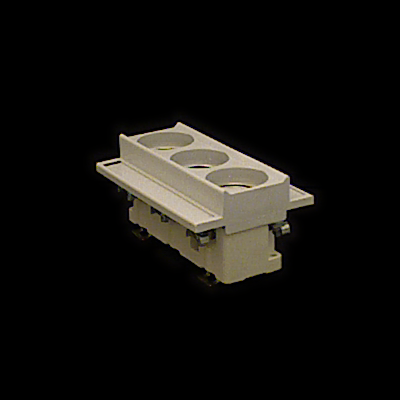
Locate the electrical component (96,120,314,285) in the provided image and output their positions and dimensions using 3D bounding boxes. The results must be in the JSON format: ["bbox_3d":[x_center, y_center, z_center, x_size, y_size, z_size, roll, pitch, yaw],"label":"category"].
[{"bbox_3d":[0.000,0.000,0.650,0.079,0.064,0.119,-13,26,-29],"label":"electrical component"}]
